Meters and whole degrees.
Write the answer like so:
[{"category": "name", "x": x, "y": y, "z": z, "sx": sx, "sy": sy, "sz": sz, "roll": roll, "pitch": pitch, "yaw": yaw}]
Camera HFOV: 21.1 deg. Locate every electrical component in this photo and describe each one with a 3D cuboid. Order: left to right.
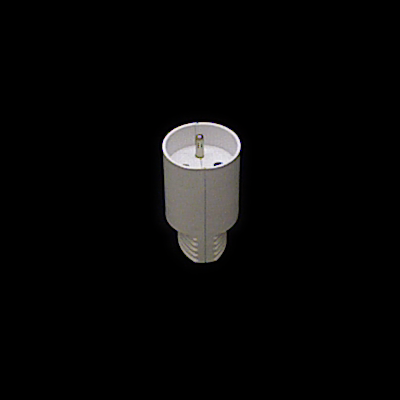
[{"category": "electrical component", "x": 0.000, "y": 0.000, "z": 0.624, "sx": 0.043, "sy": 0.082, "sz": 0.042, "roll": 1, "pitch": 41, "yaw": 0}]
